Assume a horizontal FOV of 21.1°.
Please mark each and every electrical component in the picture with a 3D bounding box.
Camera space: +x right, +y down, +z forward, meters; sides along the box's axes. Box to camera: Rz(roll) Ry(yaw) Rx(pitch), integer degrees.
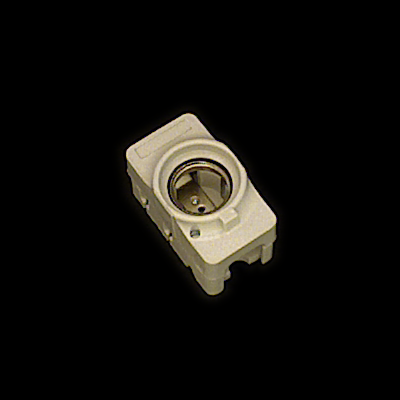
[{"bbox_3d":[0.000,0.000,0.635,0.050,0.089,0.055,-32,-22,-15],"label":"electrical component"}]
